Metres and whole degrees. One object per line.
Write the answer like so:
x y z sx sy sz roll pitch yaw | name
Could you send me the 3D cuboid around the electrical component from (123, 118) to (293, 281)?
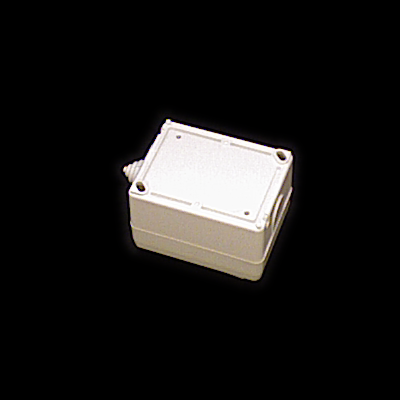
0.000 0.000 0.631 0.096 0.061 0.061 16 -37 12 | electrical component
